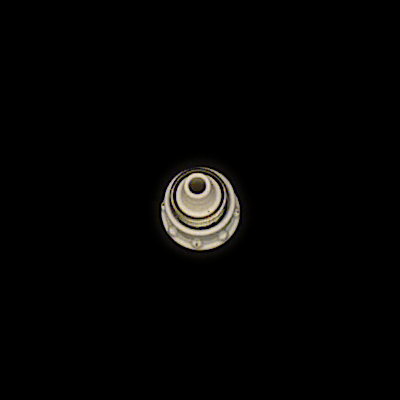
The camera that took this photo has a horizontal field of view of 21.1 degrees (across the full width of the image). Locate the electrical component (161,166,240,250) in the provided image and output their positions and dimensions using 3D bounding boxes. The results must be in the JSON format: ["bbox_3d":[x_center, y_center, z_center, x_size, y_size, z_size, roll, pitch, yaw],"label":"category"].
[{"bbox_3d":[0.000,0.000,0.633,0.048,0.048,0.061,0,-17,1],"label":"electrical component"}]
